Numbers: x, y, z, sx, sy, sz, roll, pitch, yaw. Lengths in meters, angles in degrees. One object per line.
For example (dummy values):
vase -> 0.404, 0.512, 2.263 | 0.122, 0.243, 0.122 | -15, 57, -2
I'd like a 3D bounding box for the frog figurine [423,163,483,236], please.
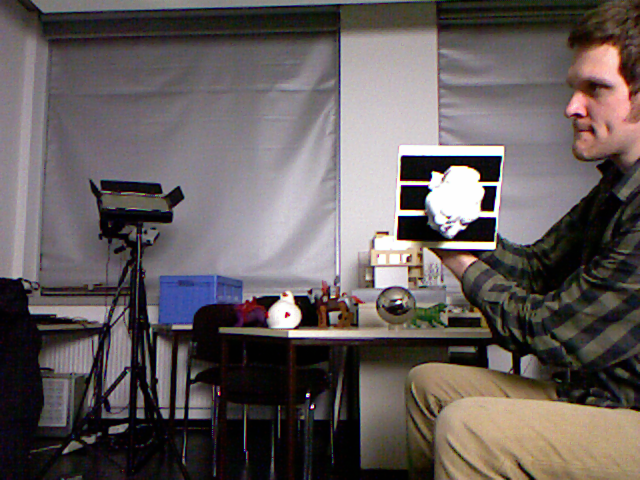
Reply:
frog figurine -> 0.255, -0.074, 0.973 | 0.123, 0.137, 0.162 | 24, 12, -6
